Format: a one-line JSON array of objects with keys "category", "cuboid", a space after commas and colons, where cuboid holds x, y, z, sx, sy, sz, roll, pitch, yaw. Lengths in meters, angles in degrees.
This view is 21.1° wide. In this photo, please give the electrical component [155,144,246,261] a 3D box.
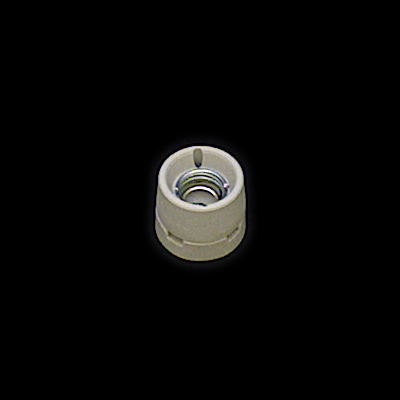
[{"category": "electrical component", "cuboid": [0.000, 0.000, 0.635, 0.055, 0.055, 0.047, 0, -38, -1]}]
